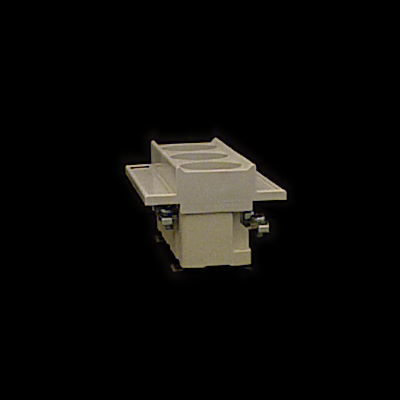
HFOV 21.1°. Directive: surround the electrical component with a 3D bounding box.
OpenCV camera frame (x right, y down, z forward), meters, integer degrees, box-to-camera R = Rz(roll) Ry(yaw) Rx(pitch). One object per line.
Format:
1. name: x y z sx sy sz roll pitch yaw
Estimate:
1. electrical component: 0.000 0.000 0.655 0.079 0.063 0.120 -2 11 -9
